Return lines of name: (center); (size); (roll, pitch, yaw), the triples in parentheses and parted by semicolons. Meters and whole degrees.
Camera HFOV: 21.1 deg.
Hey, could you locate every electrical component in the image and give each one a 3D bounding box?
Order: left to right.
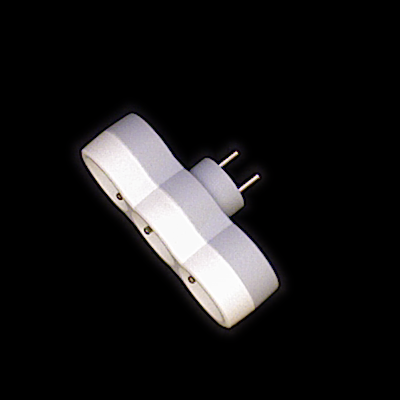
electrical component: (0.000, 0.000, 0.631); (0.074, 0.138, 0.052); (-38, -14, -12)
